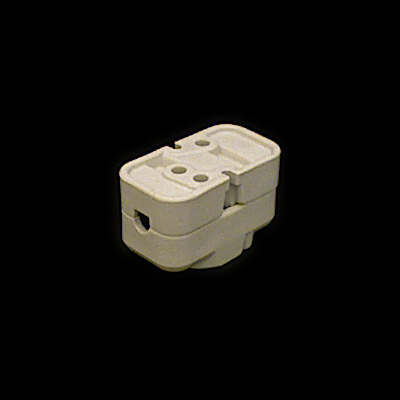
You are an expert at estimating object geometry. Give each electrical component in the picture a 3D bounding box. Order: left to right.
[{"bbox_3d":[0.000,0.000,0.641,0.095,0.060,0.053,-26,41,-37],"label":"electrical component"}]
